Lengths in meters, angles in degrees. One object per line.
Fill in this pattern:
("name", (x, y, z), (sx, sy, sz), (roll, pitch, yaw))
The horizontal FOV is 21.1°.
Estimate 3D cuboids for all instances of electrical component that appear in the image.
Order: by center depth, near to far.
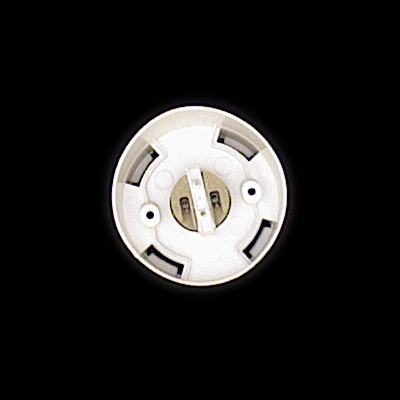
("electrical component", (0.000, 0.000, 0.624), (0.099, 0.099, 0.064), (0, -7, 1))
